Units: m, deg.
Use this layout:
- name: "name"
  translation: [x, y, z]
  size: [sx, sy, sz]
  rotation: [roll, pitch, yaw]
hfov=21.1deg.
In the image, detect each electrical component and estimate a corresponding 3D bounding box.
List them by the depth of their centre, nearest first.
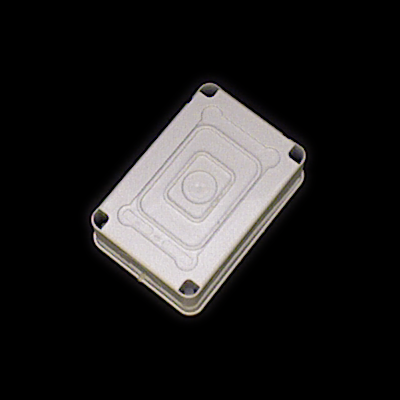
- name: "electrical component"
  translation: [0.000, 0.000, 0.627]
  size: [0.078, 0.113, 0.057]
  rotation: [37, -13, 10]
